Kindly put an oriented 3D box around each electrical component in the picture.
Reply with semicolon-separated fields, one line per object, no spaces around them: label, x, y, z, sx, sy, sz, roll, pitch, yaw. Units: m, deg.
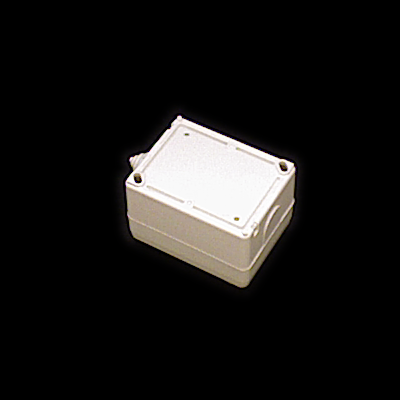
electrical component;0.000;0.000;0.631;0.096;0.061;0.061;24;-34;18
